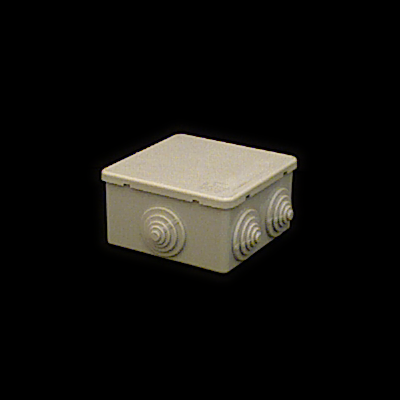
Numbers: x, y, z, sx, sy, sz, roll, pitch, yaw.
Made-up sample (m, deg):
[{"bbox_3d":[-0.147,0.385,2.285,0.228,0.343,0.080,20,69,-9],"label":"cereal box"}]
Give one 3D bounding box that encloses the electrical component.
[{"bbox_3d":[0.000,0.000,0.647,0.098,0.049,0.100,13,25,28],"label":"electrical component"}]
